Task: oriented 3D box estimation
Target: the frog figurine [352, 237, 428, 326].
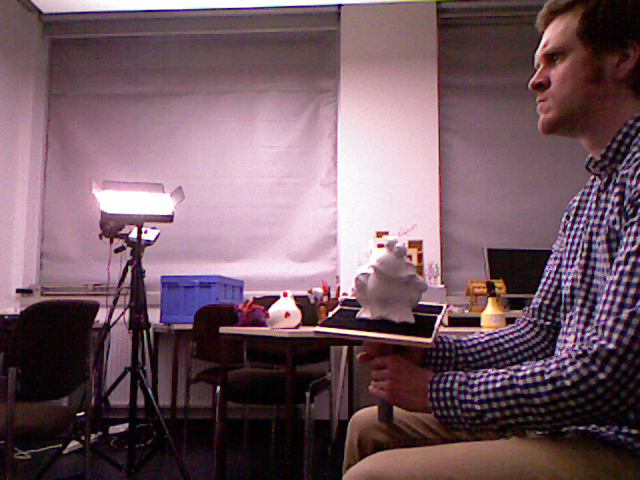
[{"bbox_3d":[0.123,0.066,0.933,0.138,0.158,0.124,6,16,32],"label":"frog figurine"}]
